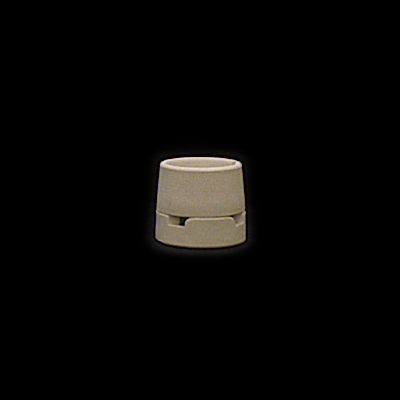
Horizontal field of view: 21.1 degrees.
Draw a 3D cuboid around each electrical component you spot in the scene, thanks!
[{"bbox_3d":[0.000,0.000,0.645,0.055,0.047,0.055,0,11,0],"label":"electrical component"}]
